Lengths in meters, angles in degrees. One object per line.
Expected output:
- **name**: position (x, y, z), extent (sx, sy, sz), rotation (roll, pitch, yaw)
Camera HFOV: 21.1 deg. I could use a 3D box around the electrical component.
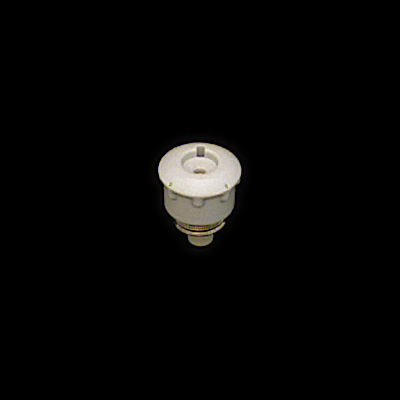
- **electrical component**: position (0.000, 0.000, 0.637), extent (0.048, 0.062, 0.047), rotation (1, 43, 0)
